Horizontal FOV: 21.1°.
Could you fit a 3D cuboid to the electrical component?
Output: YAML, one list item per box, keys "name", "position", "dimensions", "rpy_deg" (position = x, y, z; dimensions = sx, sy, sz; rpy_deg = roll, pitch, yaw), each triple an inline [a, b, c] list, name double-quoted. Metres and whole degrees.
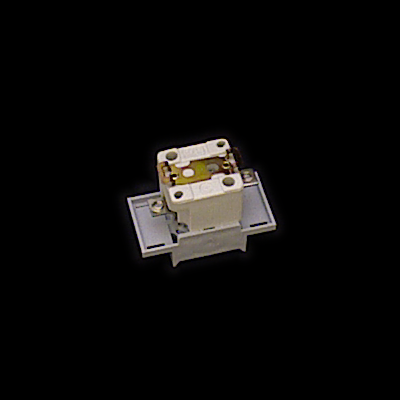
- name: "electrical component"
  position: [0.000, 0.000, 0.627]
  dimensions: [0.081, 0.042, 0.064]
  rpy_deg: [-12, -37, -10]
